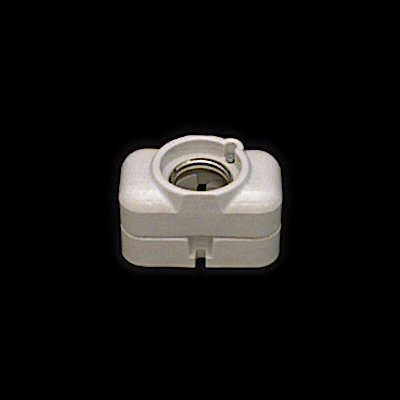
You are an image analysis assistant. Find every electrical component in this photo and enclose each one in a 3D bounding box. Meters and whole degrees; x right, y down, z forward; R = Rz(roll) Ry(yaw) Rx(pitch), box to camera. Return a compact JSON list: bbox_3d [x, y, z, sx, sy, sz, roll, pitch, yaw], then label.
[{"bbox_3d":[0.000,0.000,0.639,0.095,0.060,0.053,0,43,-1],"label":"electrical component"}]
